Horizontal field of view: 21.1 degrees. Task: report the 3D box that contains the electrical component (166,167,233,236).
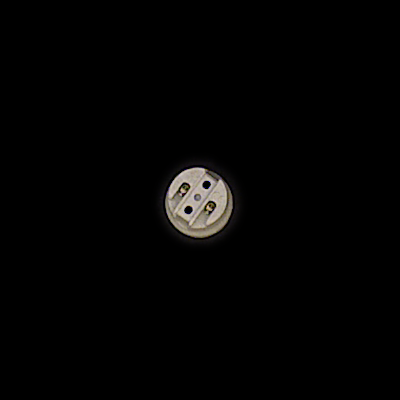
[{"bbox_3d":[0.000,0.000,0.634,0.040,0.040,0.046,0,-7,0],"label":"electrical component"}]
